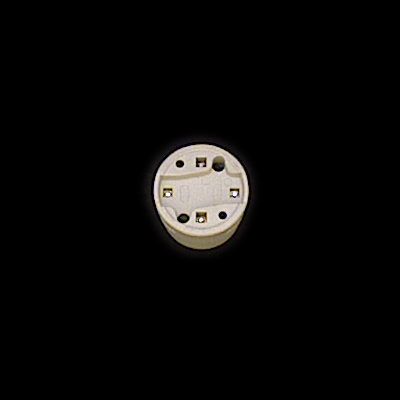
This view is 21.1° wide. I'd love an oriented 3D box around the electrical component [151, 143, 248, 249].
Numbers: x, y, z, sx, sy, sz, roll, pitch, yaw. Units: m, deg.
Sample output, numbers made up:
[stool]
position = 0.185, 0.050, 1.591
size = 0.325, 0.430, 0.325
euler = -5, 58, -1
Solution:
[electrical component]
position = 0.000, 0.000, 0.635
size = 0.055, 0.056, 0.047
euler = 0, -17, 0
